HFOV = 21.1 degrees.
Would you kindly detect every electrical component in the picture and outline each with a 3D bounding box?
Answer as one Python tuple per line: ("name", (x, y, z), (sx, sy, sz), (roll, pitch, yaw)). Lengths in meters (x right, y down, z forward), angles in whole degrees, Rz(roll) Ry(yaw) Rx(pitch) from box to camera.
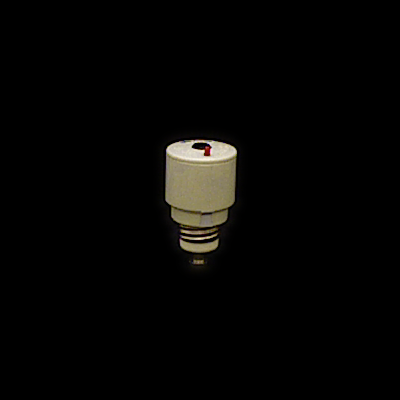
("electrical component", (0.000, 0.000, 0.633), (0.040, 0.079, 0.039), (1, 22, 0))
